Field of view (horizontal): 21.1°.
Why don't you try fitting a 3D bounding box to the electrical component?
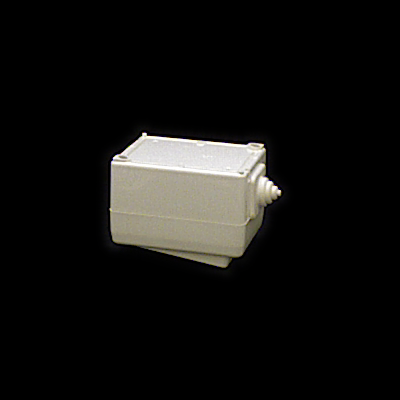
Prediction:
[{"bbox_3d":[0.000,0.000,0.639,0.096,0.061,0.061,6,21,14],"label":"electrical component"}]
